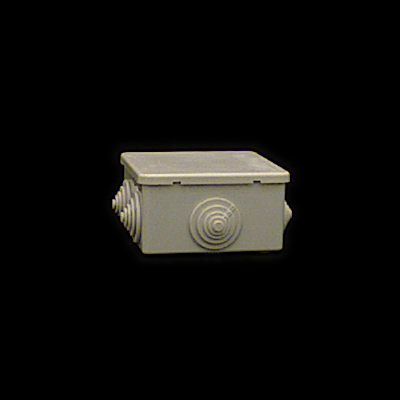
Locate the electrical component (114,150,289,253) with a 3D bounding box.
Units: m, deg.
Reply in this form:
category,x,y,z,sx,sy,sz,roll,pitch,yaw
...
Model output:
category,x,y,z,sx,sy,sz,roll,pitch,yaw
electrical component,0.000,0.000,0.652,0.100,0.049,0.098,-1,12,-12
